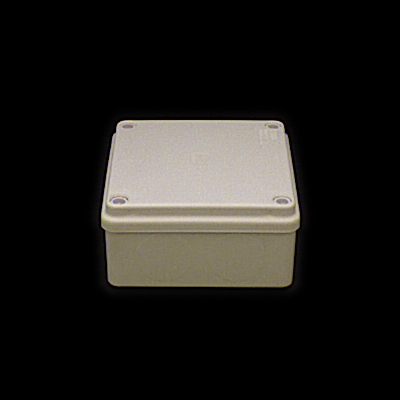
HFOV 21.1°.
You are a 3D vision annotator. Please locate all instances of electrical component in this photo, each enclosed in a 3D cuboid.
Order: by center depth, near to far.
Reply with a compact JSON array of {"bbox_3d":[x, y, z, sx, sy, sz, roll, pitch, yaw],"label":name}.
[{"bbox_3d":[0.000,0.000,0.634,0.109,0.057,0.107,0,32,0],"label":"electrical component"}]
